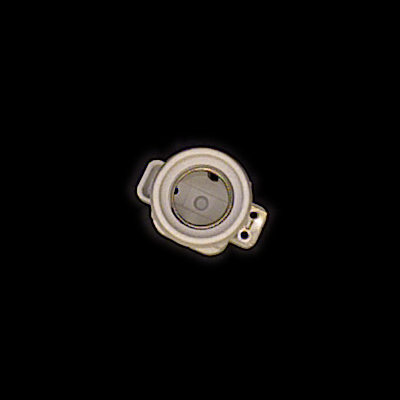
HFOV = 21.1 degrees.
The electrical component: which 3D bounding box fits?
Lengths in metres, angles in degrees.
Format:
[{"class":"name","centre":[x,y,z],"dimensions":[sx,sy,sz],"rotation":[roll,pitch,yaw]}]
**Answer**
[{"class":"electrical component","centre":[0.000,0.000,0.630],"dimensions":[0.078,0.058,0.056],"rotation":[25,-6,3]}]
